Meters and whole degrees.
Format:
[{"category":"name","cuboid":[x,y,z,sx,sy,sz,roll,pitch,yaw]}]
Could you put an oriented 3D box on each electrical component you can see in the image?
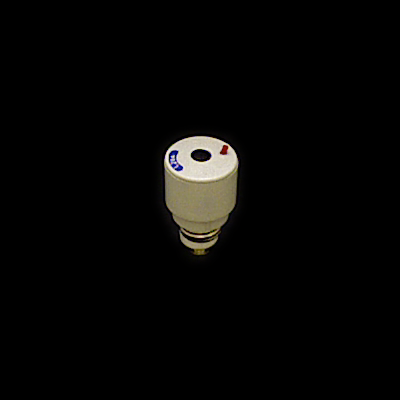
[{"category":"electrical component","cuboid":[0.000,0.000,0.624,0.040,0.079,0.039,1,41,-1]}]
